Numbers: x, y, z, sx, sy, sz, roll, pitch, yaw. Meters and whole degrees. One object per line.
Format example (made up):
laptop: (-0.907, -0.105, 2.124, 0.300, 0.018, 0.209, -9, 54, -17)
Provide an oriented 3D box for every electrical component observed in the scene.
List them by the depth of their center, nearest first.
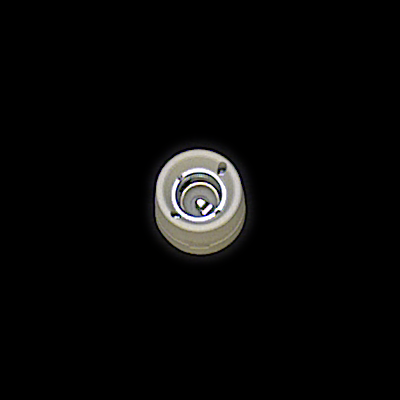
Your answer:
electrical component: (0.000, 0.000, 0.632, 0.055, 0.056, 0.047, 0, -16, 1)
